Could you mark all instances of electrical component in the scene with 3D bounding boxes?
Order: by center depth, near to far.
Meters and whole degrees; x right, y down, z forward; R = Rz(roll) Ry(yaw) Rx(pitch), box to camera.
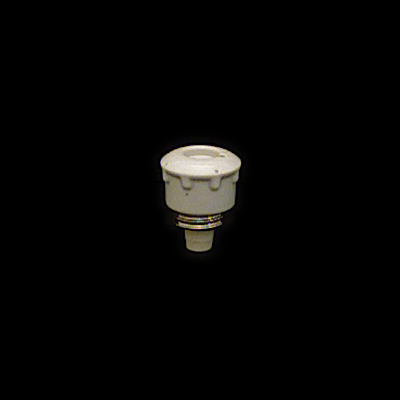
[{"bbox_3d":[0.000,0.000,0.648,0.048,0.063,0.047,1,22,0],"label":"electrical component"}]
